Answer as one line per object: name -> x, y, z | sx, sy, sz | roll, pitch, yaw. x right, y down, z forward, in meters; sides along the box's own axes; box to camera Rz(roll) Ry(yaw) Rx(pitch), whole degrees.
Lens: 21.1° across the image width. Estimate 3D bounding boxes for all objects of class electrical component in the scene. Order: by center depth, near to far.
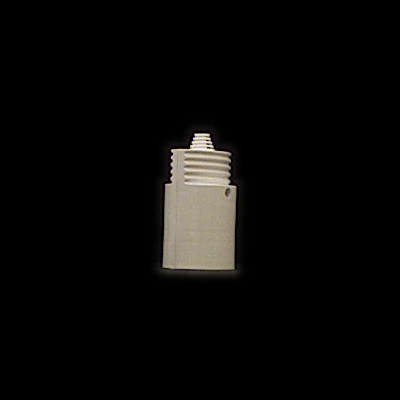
electrical component -> 0.000, 0.000, 0.649 | 0.043, 0.081, 0.043 | 1, 1, 0
